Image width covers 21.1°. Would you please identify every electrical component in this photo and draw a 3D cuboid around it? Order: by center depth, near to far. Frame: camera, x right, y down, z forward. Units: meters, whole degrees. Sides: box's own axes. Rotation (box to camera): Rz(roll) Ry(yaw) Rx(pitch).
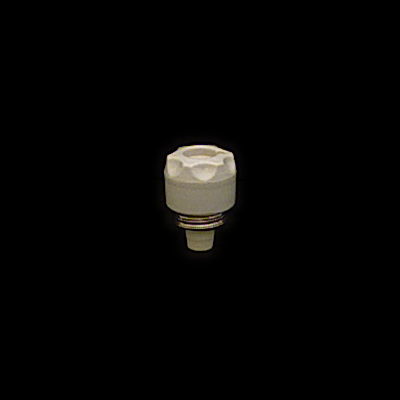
[{"bbox_3d":[0.000,0.000,0.645,0.043,0.063,0.043,0,22,0],"label":"electrical component"}]
